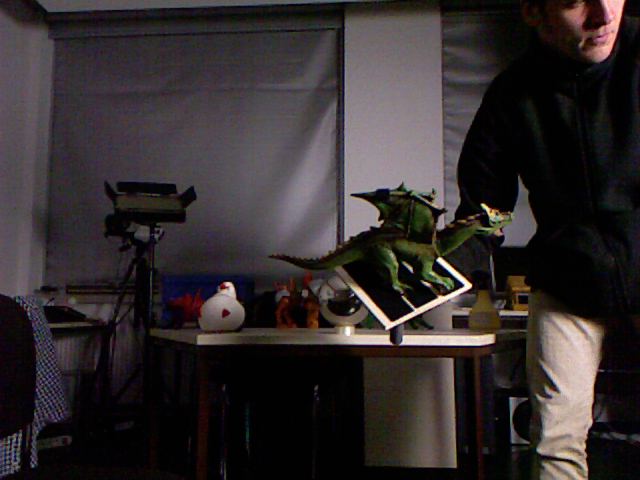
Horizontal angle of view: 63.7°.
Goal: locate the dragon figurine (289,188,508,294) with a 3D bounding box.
[{"bbox_3d":[0.136,-0.014,0.954,0.411,0.125,0.237,-1,-43,3],"label":"dragon figurine"}]
